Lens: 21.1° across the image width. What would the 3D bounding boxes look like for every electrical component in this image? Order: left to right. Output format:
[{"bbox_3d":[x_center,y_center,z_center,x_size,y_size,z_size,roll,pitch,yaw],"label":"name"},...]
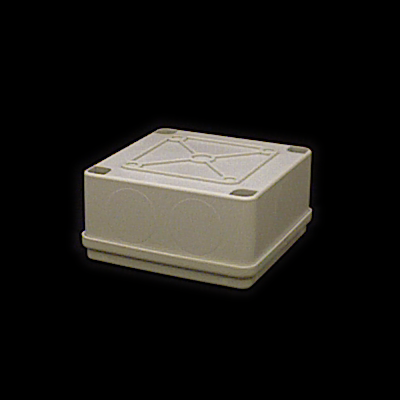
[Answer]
[{"bbox_3d":[0.000,0.000,0.641,0.108,0.057,0.108,10,22,22],"label":"electrical component"}]
